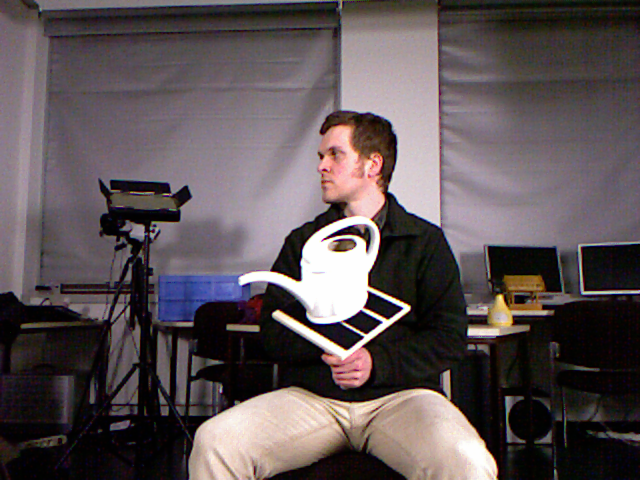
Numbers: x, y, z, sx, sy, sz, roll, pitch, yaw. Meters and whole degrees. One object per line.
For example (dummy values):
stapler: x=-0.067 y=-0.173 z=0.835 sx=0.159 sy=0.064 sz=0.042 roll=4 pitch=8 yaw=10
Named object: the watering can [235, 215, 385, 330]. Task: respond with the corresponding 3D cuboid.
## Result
watering can: x=-0.004 y=0.080 z=0.993 sx=0.352 sy=0.220 sz=0.105 roll=-25 pitch=36 yaw=-31
